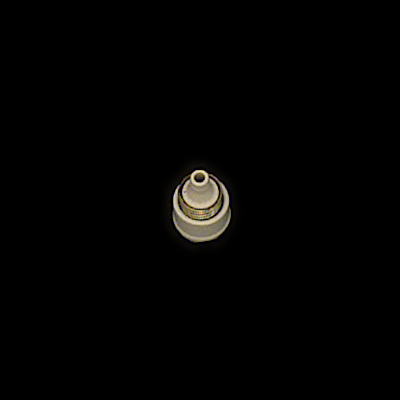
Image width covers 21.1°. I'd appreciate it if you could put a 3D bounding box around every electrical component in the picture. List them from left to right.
[{"bbox_3d":[0.000,0.000,0.637,0.035,0.035,0.061,0,-26,2],"label":"electrical component"}]
